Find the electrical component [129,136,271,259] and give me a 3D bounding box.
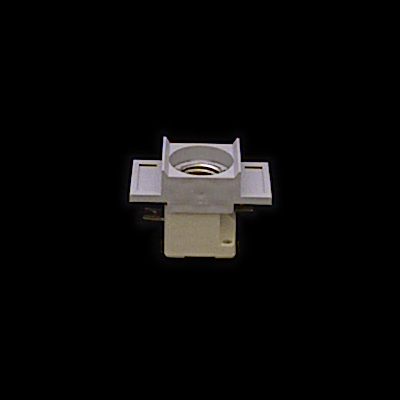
[{"bbox_3d":[0.000,0.000,0.632,0.081,0.064,0.041,1,32,-1],"label":"electrical component"}]
